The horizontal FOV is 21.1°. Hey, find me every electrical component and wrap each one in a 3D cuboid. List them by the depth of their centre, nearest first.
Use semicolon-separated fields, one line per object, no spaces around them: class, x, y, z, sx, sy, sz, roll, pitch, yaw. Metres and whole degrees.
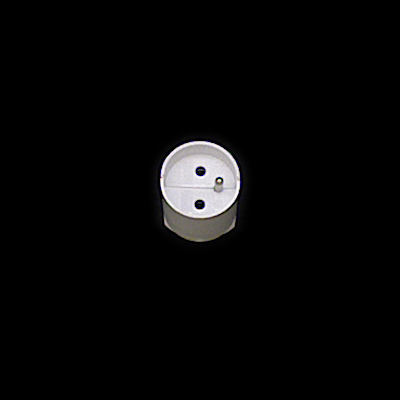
electrical component;0.000;0.000;0.616;0.043;0.043;0.080;0;-16;-1
